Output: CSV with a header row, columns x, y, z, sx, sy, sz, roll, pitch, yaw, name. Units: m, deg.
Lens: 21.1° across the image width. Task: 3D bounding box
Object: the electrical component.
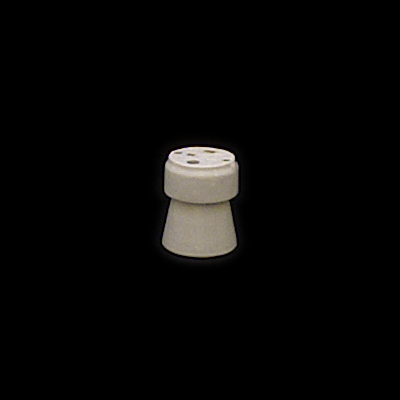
x,y,z,sx,sy,sz,roll,pitch,yaw,name
0.000,0.000,0.641,0.045,0.056,0.044,2,21,0,electrical component
